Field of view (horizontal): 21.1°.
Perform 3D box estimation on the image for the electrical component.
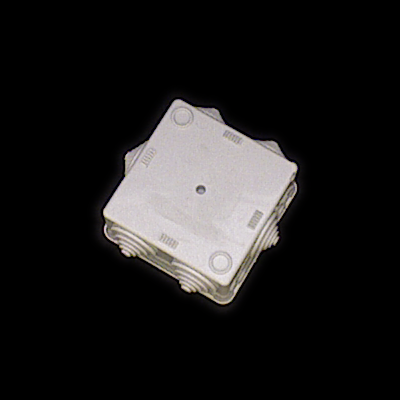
[{"bbox_3d":[0.000,0.000,0.631,0.100,0.100,0.048,30,-14,8],"label":"electrical component"}]
